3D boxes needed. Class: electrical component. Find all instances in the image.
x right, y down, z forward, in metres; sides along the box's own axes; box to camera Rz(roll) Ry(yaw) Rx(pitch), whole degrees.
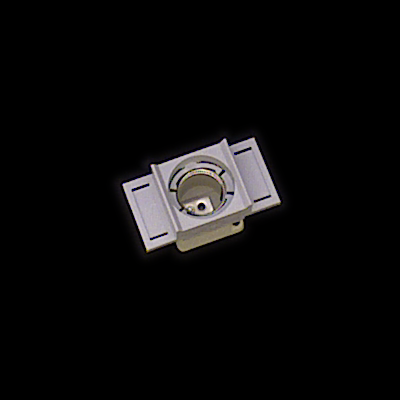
[{"bbox_3d":[0.000,0.000,0.623,0.081,0.042,0.063,-19,-15,-6],"label":"electrical component"}]
